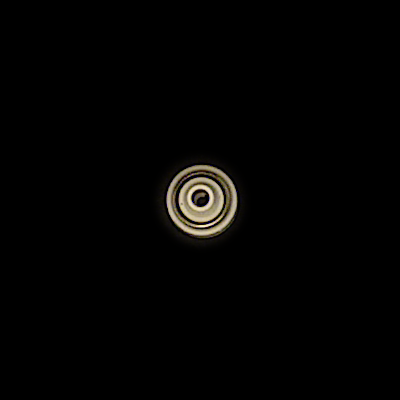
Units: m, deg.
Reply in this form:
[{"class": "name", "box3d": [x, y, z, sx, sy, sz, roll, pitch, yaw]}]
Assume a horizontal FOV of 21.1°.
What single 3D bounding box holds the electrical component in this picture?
[{"class": "electrical component", "box3d": [0.000, 0.000, 0.634, 0.043, 0.043, 0.062, 0, -4, 2]}]
